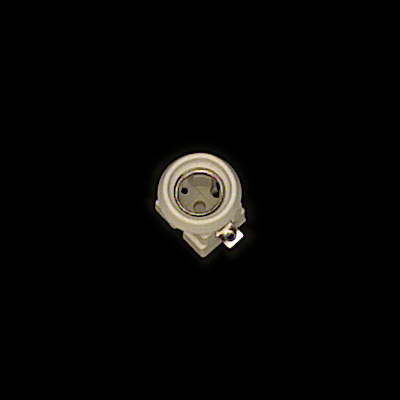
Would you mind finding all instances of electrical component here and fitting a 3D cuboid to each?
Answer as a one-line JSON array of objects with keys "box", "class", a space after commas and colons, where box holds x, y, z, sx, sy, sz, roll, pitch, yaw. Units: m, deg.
[{"box": [0.000, 0.000, 0.637, 0.048, 0.066, 0.055, -44, -12, -9], "class": "electrical component"}]
